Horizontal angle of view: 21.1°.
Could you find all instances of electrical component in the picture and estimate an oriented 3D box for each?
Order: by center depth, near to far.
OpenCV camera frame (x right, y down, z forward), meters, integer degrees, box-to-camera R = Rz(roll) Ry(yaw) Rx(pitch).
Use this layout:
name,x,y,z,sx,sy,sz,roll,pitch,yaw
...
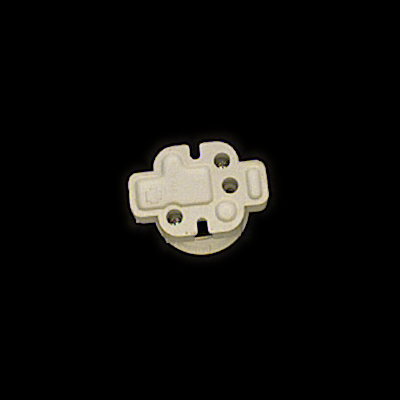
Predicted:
name,x,y,z,sx,sy,sz,roll,pitch,yaw
electrical component,0.000,0.000,0.635,0.078,0.058,0.056,-7,-15,-1
